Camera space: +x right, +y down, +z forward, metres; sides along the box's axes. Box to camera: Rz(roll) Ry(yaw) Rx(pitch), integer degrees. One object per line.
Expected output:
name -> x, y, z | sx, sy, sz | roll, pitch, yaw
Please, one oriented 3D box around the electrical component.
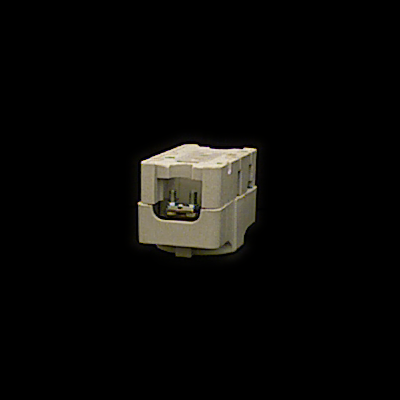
electrical component -> 0.000, 0.000, 0.651 | 0.050, 0.056, 0.089 | 5, 12, 16
